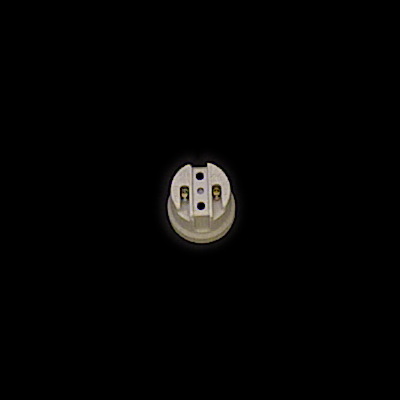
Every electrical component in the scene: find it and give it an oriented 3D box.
[{"bbox_3d":[0.000,0.000,0.633,0.040,0.040,0.046,0,-17,1],"label":"electrical component"}]
